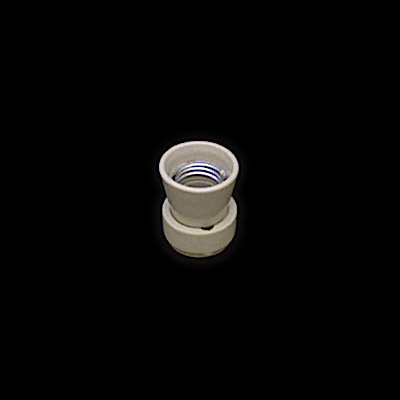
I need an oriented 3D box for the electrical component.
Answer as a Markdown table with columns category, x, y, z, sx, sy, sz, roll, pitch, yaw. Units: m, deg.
| category | x | y | z | sx | sy | sz | roll | pitch | yaw |
| --- | --- | --- | --- | --- | --- | --- | --- | --- | --- |
| electrical component | 0.000 | 0.000 | 0.630 | 0.045 | 0.055 | 0.044 | 0 | 42 | 0 |
